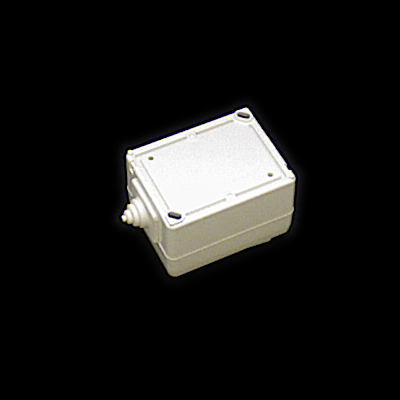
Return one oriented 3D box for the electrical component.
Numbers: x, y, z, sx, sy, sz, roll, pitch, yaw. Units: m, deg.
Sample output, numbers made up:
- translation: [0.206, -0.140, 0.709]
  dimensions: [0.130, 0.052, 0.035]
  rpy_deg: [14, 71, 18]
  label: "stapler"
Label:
- translation: [0.000, 0.000, 0.624]
  dimensions: [0.096, 0.061, 0.061]
  rpy_deg: [-21, -34, -17]
  label: "electrical component"
